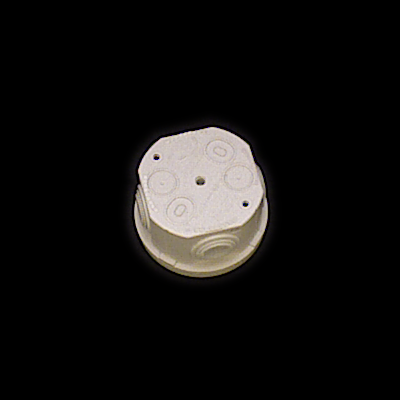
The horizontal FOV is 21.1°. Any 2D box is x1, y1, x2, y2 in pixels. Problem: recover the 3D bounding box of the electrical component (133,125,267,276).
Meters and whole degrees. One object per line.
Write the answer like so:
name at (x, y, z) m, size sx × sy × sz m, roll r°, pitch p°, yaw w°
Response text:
electrical component at (0.000, 0.000, 0.632) m, size 0.080 × 0.080 × 0.050 m, roll 0°, pitch -27°, yaw 1°
